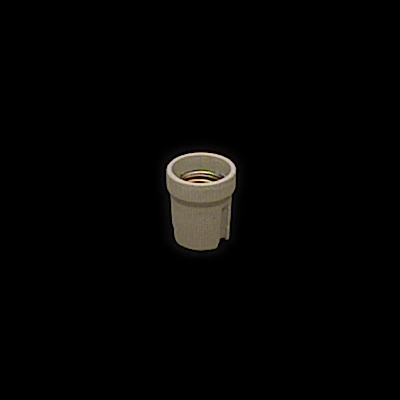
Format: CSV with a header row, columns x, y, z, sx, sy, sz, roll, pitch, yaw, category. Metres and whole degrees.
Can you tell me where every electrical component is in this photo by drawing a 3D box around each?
x,y,z,sx,sy,sz,roll,pitch,yaw,category
0.000,0.000,0.637,0.040,0.047,0.039,1,31,0,electrical component
